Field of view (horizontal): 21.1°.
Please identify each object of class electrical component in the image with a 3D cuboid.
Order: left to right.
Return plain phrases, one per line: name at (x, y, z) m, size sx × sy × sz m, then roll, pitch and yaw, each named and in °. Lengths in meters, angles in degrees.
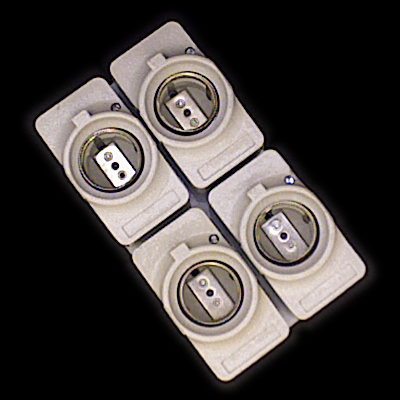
electrical component at (0.000, 0.000, 0.626) m, size 0.106 × 0.186 × 0.060 m, roll -37°, pitch -6°, yaw -4°
